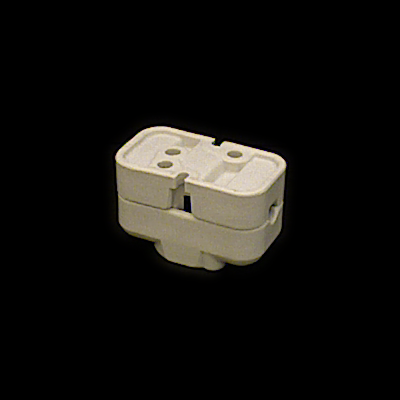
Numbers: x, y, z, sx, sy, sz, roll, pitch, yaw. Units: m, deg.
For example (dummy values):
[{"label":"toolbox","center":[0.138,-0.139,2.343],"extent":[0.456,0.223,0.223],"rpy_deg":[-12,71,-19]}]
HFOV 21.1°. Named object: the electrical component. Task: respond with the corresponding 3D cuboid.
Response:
[{"label":"electrical component","center":[0.000,0.000,0.639],"extent":[0.094,0.060,0.053],"rpy_deg":[15,35,21]}]
